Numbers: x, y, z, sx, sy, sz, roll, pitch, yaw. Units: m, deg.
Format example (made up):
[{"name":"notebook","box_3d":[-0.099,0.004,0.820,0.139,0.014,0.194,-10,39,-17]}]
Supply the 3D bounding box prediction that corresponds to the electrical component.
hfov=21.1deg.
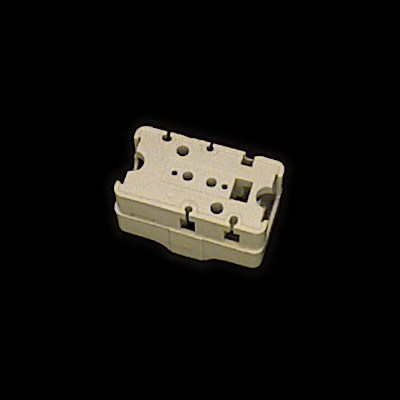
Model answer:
[{"name":"electrical component","box_3d":[0.000,0.000,0.636,0.089,0.050,0.055,16,-26,7]}]
